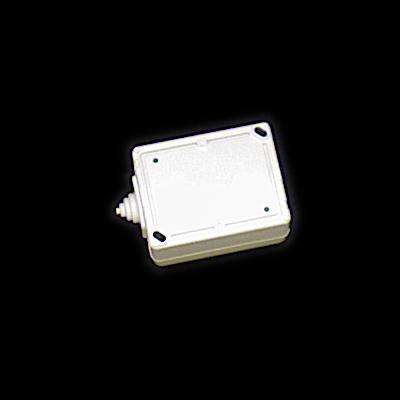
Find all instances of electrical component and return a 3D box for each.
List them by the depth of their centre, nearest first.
[{"bbox_3d":[0.000,0.000,0.625,0.096,0.062,0.060,-11,-16,-4],"label":"electrical component"}]
